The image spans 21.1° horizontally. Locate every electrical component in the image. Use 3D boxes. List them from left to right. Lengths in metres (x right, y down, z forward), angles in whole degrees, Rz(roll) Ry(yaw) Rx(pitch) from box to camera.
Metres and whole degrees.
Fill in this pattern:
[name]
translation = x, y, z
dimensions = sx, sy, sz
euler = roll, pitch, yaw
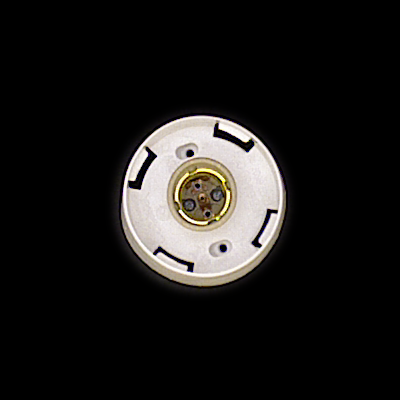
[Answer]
[electrical component]
translation = 0.000, 0.000, 0.625
dimensions = 0.099, 0.099, 0.064
euler = 0, -6, 1
